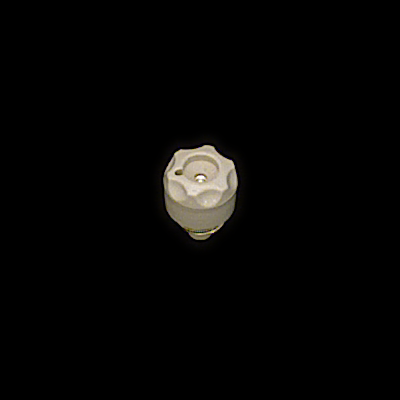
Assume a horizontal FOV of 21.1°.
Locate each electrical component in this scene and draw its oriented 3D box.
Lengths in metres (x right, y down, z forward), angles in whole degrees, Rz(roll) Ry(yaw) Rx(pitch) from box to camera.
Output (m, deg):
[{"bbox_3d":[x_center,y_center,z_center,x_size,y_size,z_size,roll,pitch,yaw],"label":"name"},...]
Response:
[{"bbox_3d":[0.000,0.000,0.636,0.043,0.043,0.062,0,-38,-1],"label":"electrical component"}]
